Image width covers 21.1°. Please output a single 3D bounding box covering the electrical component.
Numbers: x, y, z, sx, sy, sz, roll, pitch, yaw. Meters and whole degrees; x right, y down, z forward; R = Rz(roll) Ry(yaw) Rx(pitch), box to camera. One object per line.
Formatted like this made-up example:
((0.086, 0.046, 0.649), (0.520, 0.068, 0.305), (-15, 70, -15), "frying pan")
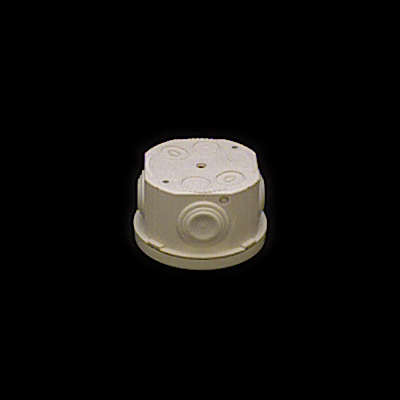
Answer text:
((0.000, 0.000, 0.638), (0.080, 0.051, 0.079), (1, 31, 0), "electrical component")
